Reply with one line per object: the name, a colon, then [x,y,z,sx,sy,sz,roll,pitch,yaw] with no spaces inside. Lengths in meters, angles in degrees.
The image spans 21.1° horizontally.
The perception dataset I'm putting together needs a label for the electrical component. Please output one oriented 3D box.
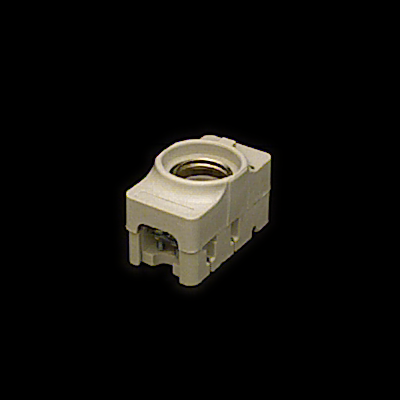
electrical component: [0.000,0.000,0.642,0.049,0.056,0.089,19,37,27]
